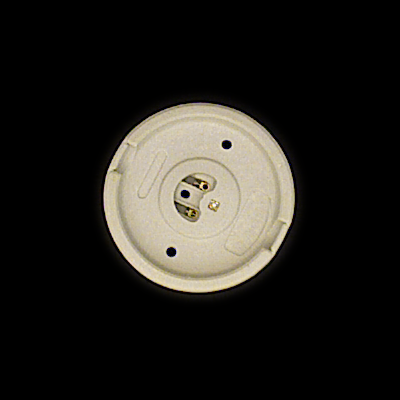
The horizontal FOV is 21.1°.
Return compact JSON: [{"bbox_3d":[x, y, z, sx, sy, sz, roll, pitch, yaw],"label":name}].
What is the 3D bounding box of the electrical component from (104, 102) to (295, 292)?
[{"bbox_3d":[0.000,0.000,0.635,0.108,0.108,0.060,0,-6,0],"label":"electrical component"}]
